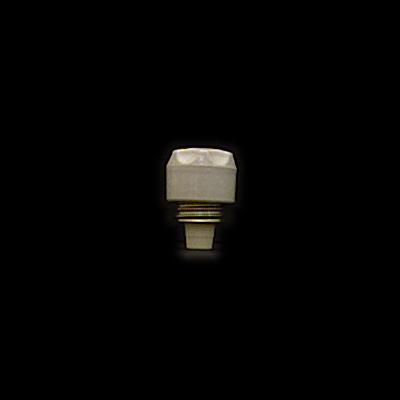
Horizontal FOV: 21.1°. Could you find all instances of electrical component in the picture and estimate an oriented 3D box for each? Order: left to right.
[{"bbox_3d":[0.000,0.000,0.658,0.043,0.062,0.043,2,1,0],"label":"electrical component"}]
